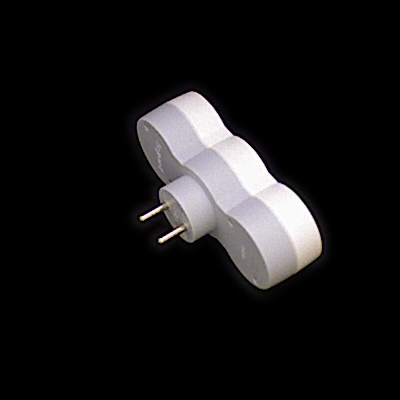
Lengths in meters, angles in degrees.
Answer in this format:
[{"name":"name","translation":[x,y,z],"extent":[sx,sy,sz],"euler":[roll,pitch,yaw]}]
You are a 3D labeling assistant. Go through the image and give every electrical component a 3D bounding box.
[{"name":"electrical component","translation":[0.000,0.000,0.630],"extent":[0.074,0.138,0.052],"euler":[-30,-31,-19]}]
